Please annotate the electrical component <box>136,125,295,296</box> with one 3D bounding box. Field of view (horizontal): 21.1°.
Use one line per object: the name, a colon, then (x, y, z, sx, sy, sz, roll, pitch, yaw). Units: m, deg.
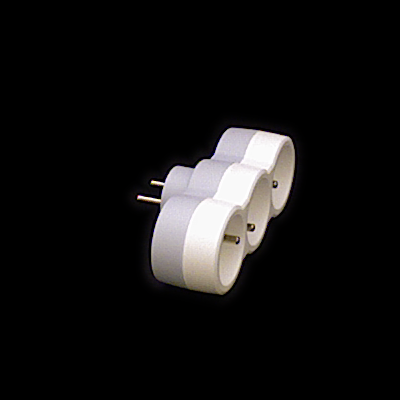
electrical component: (0.000, 0.000, 0.634, 0.073, 0.053, 0.137, 11, 34, 19)
